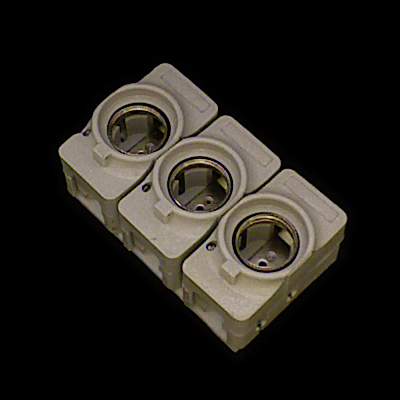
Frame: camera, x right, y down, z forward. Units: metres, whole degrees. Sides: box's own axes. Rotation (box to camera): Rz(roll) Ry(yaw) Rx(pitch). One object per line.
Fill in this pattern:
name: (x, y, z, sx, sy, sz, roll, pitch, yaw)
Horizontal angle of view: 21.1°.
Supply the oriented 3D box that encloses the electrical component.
electrical component: (0.000, 0.000, 0.630, 0.149, 0.089, 0.062, 42, -19, 19)
